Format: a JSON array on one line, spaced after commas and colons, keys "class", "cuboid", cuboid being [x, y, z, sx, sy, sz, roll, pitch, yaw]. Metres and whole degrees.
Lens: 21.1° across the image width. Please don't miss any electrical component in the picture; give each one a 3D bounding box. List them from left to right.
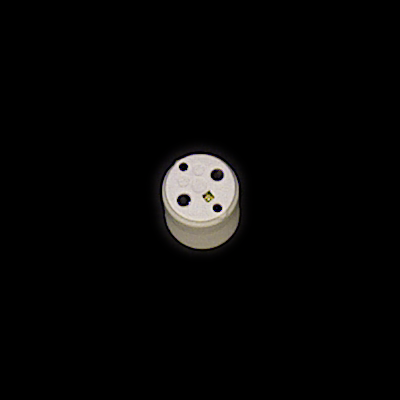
[{"class": "electrical component", "cuboid": [0.000, 0.000, 0.628, 0.045, 0.045, 0.055, 0, -17, 1]}]
